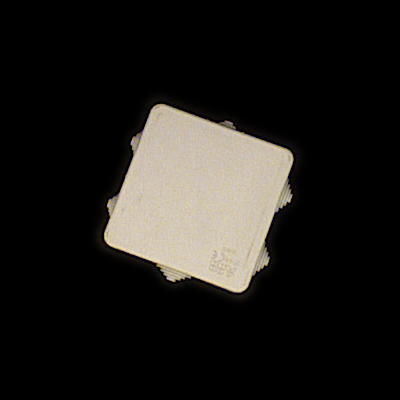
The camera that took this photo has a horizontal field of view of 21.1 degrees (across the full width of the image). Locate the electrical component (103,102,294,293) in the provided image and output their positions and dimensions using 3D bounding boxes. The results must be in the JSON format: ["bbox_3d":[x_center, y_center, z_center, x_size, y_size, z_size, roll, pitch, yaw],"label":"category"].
[{"bbox_3d":[0.000,0.000,0.642,0.100,0.100,0.048,20,-6,2],"label":"electrical component"}]
